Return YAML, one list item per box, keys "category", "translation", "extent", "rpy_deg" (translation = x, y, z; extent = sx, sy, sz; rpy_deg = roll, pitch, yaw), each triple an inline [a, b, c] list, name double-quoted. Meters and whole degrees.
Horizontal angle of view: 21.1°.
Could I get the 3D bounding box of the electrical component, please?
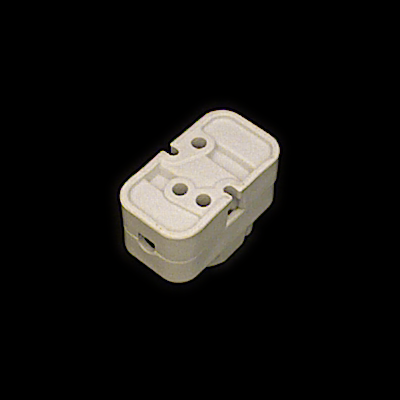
- category: "electrical component"
  translation: [0.000, 0.000, 0.636]
  extent: [0.053, 0.059, 0.095]
  rpy_deg: [35, 60, 23]
